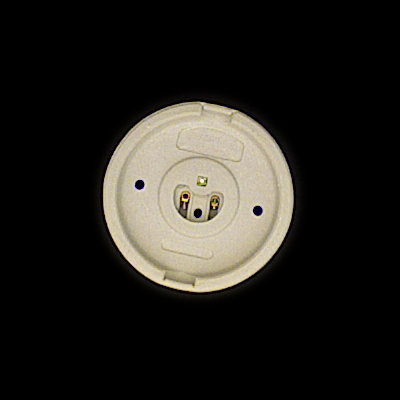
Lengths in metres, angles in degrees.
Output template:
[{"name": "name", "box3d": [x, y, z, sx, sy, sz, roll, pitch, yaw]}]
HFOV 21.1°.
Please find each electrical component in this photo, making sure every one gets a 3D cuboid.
[{"name": "electrical component", "box3d": [0.000, 0.000, 0.635, 0.108, 0.108, 0.060, 0, -5, 0]}]
